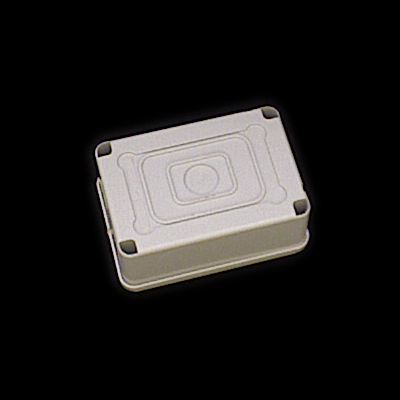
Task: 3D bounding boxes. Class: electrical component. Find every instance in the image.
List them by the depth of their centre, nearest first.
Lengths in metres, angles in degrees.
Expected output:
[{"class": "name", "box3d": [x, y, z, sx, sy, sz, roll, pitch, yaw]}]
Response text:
[{"class": "electrical component", "box3d": [0.000, 0.000, 0.628, 0.113, 0.078, 0.057, -13, -26, -6]}]
